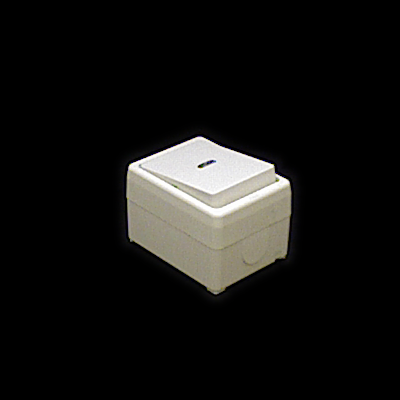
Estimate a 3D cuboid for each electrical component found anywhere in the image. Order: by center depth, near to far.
[{"bbox_3d":[0.000,0.000,0.636,0.061,0.061,0.095,-25,40,-36],"label":"electrical component"}]
